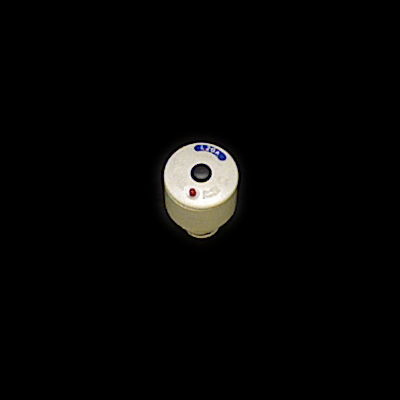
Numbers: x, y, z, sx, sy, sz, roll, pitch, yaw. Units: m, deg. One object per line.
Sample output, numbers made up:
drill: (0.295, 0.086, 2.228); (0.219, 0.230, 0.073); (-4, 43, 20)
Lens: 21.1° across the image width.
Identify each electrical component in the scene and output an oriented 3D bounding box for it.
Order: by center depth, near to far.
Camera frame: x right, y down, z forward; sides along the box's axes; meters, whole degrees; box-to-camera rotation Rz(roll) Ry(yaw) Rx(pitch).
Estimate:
electrical component: (0.000, 0.000, 0.617); (0.040, 0.040, 0.078); (0, -27, 0)
